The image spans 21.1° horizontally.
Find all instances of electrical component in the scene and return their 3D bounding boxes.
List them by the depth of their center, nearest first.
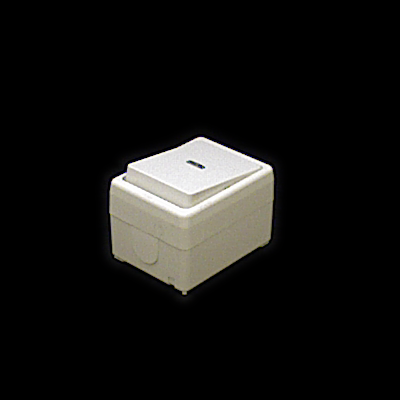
[{"bbox_3d":[0.000,0.000,0.635,0.061,0.061,0.096,25,39,35],"label":"electrical component"}]
